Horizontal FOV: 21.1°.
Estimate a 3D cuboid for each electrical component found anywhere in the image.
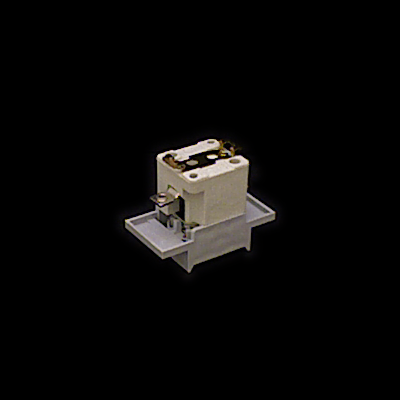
[{"bbox_3d":[0.000,0.000,0.634,0.081,0.064,0.041,-19,37,-29],"label":"electrical component"}]
